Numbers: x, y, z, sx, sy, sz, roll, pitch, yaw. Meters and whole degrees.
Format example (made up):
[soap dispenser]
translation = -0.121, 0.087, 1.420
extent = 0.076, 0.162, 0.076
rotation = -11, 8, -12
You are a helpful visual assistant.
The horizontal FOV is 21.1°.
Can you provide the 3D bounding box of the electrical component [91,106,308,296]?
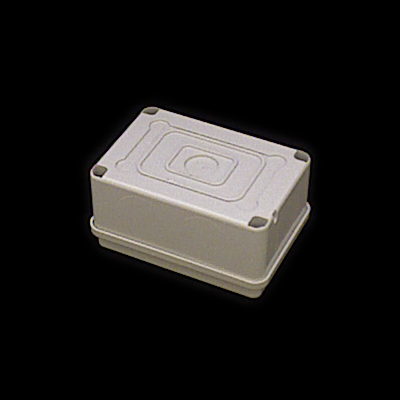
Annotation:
[electrical component]
translation = 0.000, 0.000, 0.632
extent = 0.113, 0.057, 0.078
rotation = 18, 45, 19
